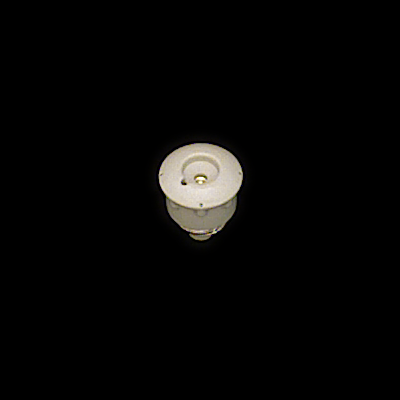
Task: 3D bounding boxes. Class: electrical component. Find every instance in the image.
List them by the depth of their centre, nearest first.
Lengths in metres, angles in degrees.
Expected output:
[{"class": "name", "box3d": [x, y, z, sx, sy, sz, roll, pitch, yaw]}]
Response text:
[{"class": "electrical component", "box3d": [0.000, 0.000, 0.634, 0.048, 0.048, 0.062, 0, -37, 0]}]
